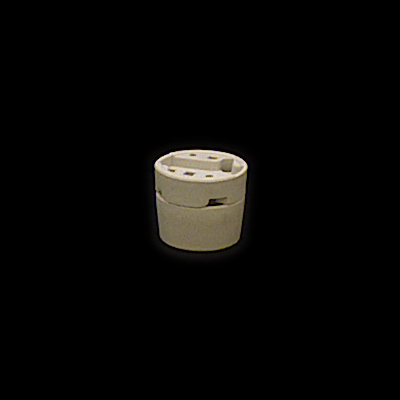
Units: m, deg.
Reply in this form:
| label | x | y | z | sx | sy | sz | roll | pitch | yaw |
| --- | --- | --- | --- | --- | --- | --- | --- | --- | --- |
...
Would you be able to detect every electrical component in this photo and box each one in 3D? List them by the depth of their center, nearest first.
| label | x | y | z | sx | sy | sz | roll | pitch | yaw |
| --- | --- | --- | --- | --- | --- | --- | --- | --- | --- |
| electrical component | 0.000 | 0.000 | 0.642 | 0.055 | 0.047 | 0.055 | 1 | 21 | 0 |
